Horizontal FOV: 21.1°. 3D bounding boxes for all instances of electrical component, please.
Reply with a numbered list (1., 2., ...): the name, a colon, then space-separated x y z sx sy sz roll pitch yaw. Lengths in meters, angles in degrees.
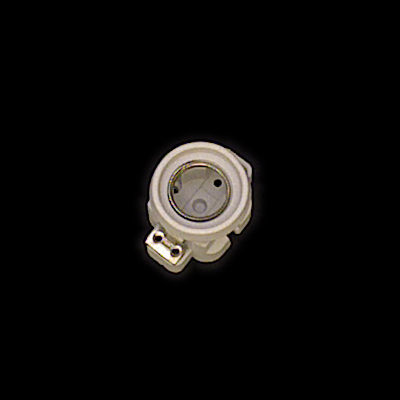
1. electrical component: 0.000 0.000 0.628 0.058 0.079 0.056 36 -13 10
